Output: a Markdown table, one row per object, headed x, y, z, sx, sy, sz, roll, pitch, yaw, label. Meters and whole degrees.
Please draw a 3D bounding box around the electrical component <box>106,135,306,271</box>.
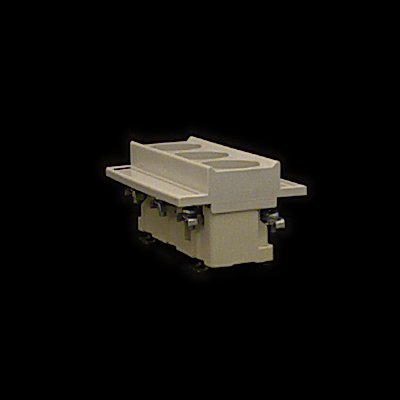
| x | y | z | sx | sy | sz | roll | pitch | yaw | label |
| --- | --- | --- | --- | --- | --- | --- | --- | --- | --- |
| 0.000 | 0.000 | 0.655 | 0.079 | 0.063 | 0.120 | -6 | 13 | -23 | electrical component |
